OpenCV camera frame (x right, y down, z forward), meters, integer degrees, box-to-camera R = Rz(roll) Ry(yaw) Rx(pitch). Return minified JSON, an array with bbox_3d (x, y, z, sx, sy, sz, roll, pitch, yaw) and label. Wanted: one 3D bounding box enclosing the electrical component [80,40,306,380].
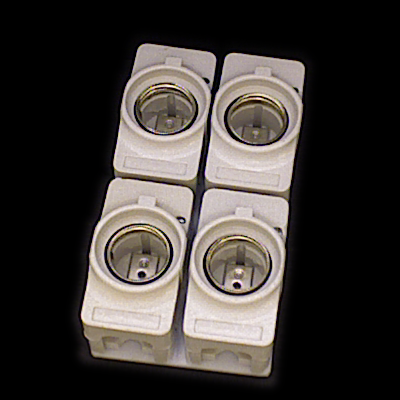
[{"bbox_3d":[0.000,0.000,0.626,0.105,0.186,0.060,7,-27,3],"label":"electrical component"}]
